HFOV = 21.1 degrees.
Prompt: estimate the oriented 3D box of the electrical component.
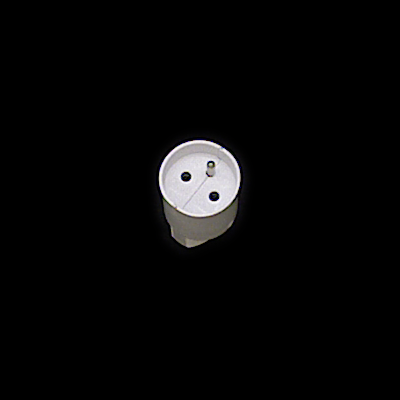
[{"bbox_3d":[0.000,0.000,0.616,0.043,0.043,0.080,0,-17,-1],"label":"electrical component"}]
